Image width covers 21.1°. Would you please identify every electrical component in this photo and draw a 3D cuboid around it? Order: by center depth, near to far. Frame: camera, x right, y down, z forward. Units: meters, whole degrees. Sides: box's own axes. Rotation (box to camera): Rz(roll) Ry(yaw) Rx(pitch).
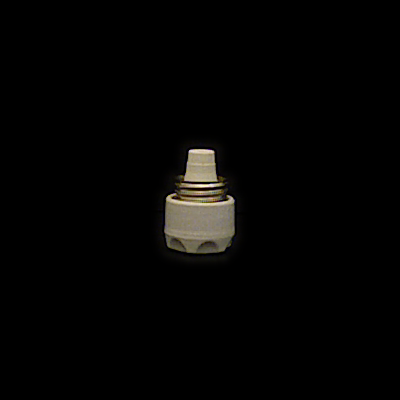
[{"bbox_3d":[0.000,0.000,0.652,0.043,0.062,0.043,2,11,0],"label":"electrical component"}]
